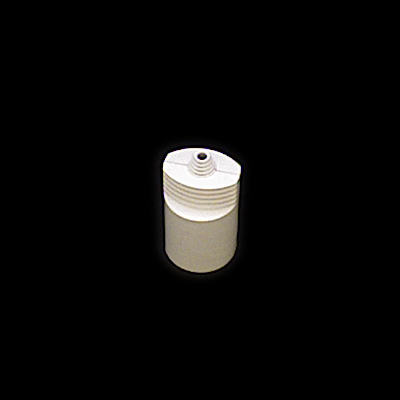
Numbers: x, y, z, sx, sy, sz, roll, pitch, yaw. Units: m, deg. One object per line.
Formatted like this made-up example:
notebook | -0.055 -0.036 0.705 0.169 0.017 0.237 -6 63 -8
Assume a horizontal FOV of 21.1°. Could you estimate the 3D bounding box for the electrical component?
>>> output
electrical component | 0.000 0.000 0.619 0.043 0.043 0.081 0 -38 0
